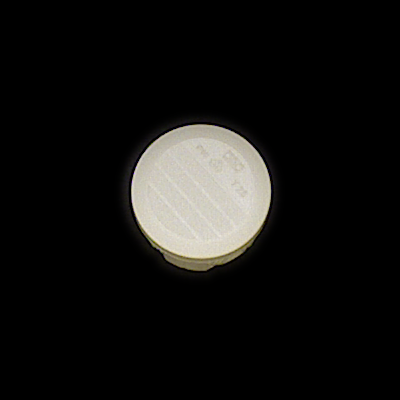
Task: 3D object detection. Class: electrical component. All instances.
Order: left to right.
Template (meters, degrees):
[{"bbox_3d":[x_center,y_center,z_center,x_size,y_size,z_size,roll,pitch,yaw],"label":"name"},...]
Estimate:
[{"bbox_3d":[0.000,0.000,0.629,0.080,0.080,0.050,0,-17,0],"label":"electrical component"}]
